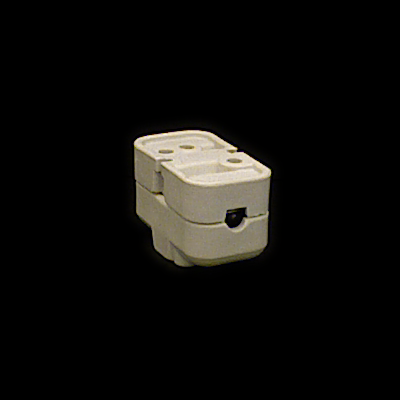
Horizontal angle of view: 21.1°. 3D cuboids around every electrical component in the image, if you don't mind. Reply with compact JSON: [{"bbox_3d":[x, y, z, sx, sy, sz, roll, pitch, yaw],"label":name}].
[{"bbox_3d":[0.000,0.000,0.643,0.054,0.060,0.093,-10,25,-25],"label":"electrical component"}]
